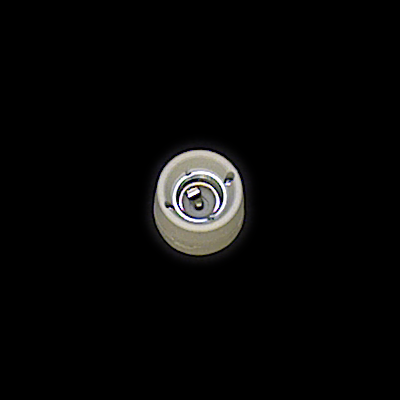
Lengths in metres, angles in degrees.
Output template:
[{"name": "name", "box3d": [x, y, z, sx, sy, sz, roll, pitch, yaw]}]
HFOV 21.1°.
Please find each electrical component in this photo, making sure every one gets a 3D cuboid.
[{"name": "electrical component", "box3d": [0.000, 0.000, 0.633, 0.055, 0.056, 0.047, 0, -17, -1]}]
